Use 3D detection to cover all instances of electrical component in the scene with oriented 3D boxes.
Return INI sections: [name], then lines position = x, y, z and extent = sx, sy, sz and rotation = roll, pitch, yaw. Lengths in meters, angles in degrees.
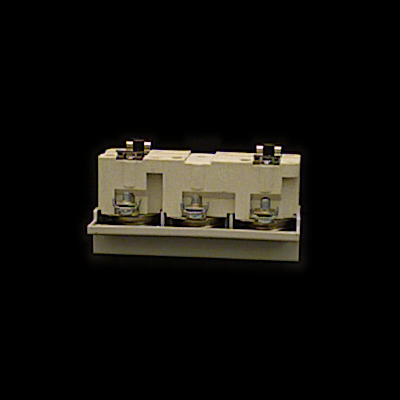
[electrical component]
position = 0.000, 0.000, 0.648
extent = 0.121, 0.063, 0.078
rotation = 2, 12, 4
